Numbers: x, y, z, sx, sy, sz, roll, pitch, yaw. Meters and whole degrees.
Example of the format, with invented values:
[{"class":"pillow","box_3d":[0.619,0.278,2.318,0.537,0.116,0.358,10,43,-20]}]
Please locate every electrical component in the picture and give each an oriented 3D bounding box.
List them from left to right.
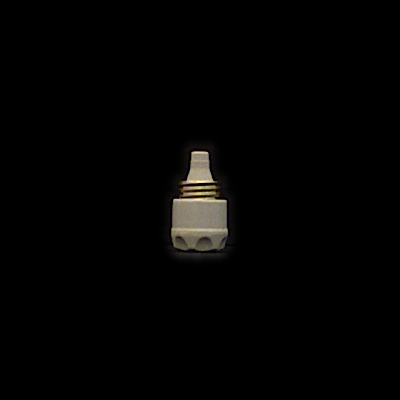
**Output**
[{"class":"electrical component","box_3d":[0.000,0.000,0.663,0.035,0.061,0.035,0,3,0]}]
